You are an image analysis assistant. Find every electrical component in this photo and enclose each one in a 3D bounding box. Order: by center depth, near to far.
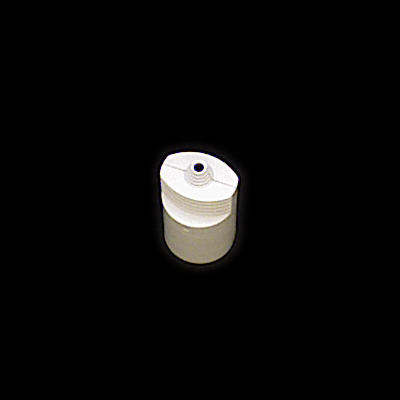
[{"bbox_3d":[0.000,0.000,0.617,0.043,0.043,0.081,0,-27,0],"label":"electrical component"}]
